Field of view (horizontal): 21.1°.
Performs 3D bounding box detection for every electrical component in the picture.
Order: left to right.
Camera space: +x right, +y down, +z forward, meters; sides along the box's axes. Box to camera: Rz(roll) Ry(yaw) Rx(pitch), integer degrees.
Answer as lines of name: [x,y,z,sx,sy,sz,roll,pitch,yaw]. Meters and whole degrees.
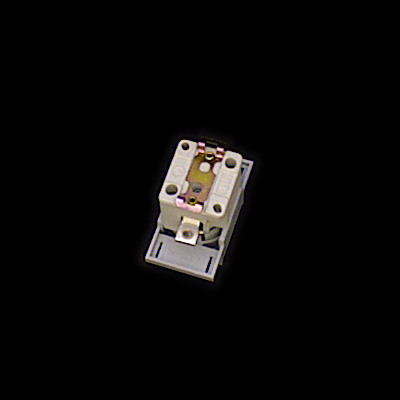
electrical component: [0.000,0.000,0.626,0.042,0.081,0.063,15,-26,8]
